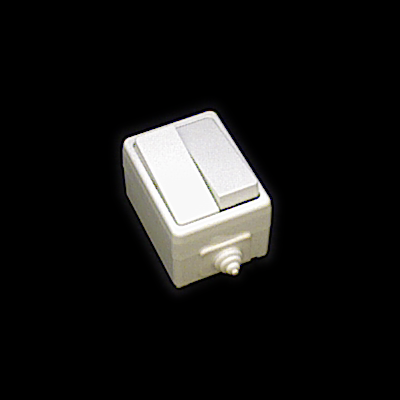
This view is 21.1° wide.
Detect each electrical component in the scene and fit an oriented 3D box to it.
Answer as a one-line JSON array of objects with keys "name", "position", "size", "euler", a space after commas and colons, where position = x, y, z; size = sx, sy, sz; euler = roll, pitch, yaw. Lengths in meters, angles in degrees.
[{"name": "electrical component", "position": [0.000, 0.000, 0.627], "size": [0.062, 0.096, 0.061], "euler": [-19, -35, -15]}]
